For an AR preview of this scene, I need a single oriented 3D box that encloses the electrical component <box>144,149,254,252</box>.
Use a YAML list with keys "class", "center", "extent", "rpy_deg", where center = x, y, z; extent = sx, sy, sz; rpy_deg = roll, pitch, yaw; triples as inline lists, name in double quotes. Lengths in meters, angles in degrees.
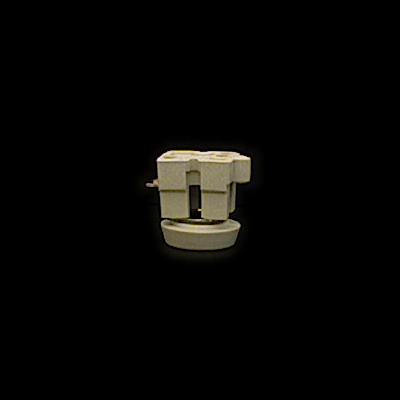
- class: "electrical component"
  center: [0.000, 0.000, 0.652]
  extent: [0.066, 0.056, 0.048]
  rpy_deg: [2, 13, 10]
